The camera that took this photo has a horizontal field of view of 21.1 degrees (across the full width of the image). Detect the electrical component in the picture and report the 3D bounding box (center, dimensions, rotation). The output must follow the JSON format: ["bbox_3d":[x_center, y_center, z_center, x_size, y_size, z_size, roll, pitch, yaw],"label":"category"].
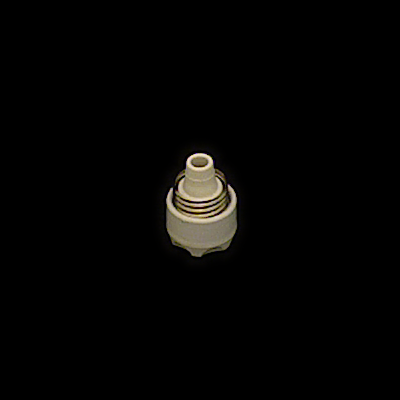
[{"bbox_3d":[0.000,0.000,0.638,0.043,0.062,0.043,0,43,1],"label":"electrical component"}]
